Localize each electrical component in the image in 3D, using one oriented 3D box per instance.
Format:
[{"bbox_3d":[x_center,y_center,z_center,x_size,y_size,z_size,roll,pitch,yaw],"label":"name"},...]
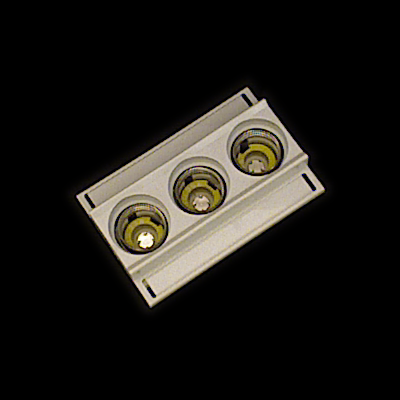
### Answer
[{"bbox_3d":[0.000,0.000,0.637,0.122,0.078,0.063,-33,-15,-8],"label":"electrical component"}]
